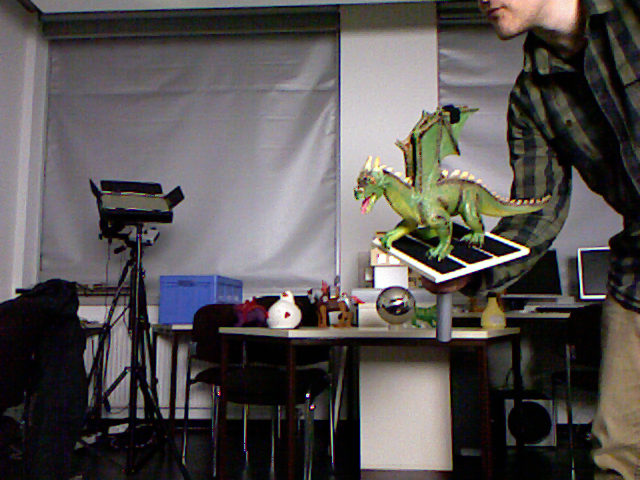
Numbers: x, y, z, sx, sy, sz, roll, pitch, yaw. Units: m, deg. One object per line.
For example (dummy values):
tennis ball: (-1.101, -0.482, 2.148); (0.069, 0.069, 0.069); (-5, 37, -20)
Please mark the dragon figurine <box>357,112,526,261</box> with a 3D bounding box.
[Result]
dragon figurine: (0.231, -0.108, 0.925); (0.414, 0.238, 0.124); (-19, 29, -27)
